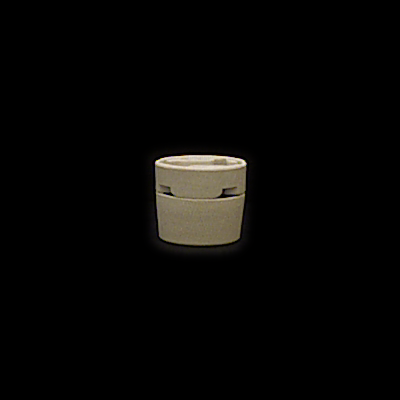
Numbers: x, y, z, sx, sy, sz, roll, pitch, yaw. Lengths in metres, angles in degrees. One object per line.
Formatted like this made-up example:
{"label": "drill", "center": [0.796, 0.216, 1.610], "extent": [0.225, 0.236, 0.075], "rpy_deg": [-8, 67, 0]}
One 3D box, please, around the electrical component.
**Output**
{"label": "electrical component", "center": [0.000, 0.000, 0.645], "extent": [0.055, 0.047, 0.055], "rpy_deg": [1, 10, 0]}
